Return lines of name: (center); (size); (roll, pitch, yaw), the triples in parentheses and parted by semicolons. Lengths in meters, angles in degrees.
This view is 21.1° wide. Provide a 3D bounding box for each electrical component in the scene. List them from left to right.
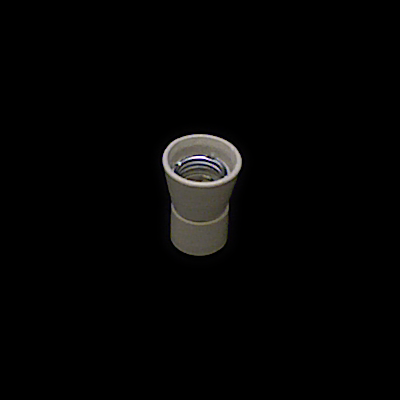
electrical component: (0.000, 0.000, 0.629); (0.044, 0.066, 0.044); (1, 42, -1)
